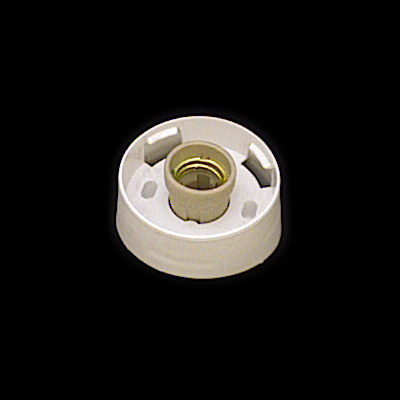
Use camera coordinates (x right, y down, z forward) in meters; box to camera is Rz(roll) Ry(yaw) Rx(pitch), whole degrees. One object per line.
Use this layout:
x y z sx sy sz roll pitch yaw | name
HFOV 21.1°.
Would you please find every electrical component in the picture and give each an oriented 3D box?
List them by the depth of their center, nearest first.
0.000 0.000 0.626 0.099 0.098 0.064 0 -38 -1 | electrical component
